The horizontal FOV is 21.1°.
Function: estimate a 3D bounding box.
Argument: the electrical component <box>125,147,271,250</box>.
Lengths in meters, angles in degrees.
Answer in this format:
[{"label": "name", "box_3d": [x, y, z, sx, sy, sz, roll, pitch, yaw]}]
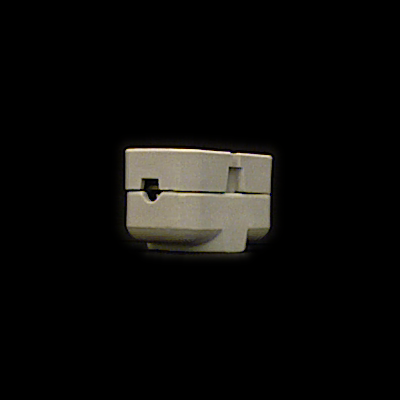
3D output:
[{"label": "electrical component", "box_3d": [0.000, 0.000, 0.657, 0.053, 0.059, 0.096, 2, 2, 37]}]
